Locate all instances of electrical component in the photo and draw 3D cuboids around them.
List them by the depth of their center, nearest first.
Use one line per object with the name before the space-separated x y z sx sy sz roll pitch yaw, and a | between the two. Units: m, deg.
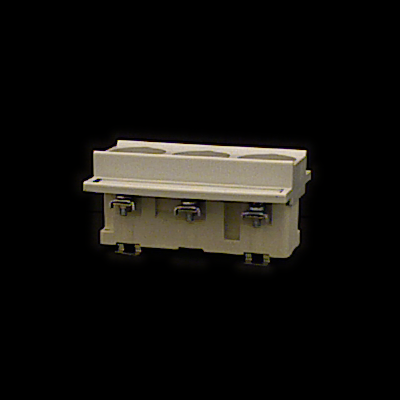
electrical component | 0.000 0.000 0.655 0.121 0.063 0.078 4 13 15
